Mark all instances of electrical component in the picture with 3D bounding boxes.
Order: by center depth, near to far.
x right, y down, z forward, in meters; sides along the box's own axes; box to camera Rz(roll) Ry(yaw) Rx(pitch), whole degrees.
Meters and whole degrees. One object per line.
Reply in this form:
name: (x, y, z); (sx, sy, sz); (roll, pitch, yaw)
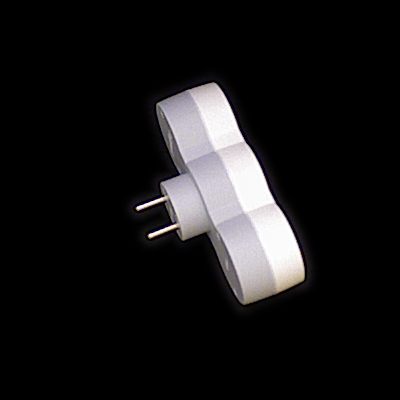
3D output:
electrical component: (0.000, 0.000, 0.629); (0.074, 0.138, 0.052); (-21, -24, -9)
